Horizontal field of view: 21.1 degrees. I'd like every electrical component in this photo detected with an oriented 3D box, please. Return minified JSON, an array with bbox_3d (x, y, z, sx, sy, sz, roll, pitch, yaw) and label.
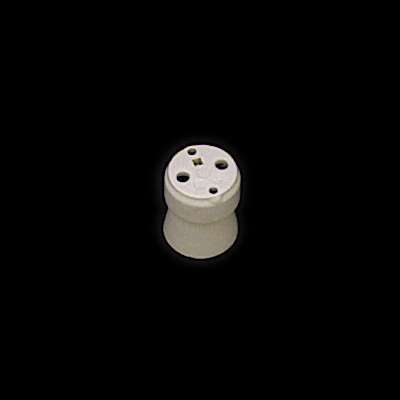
[{"bbox_3d":[0.000,0.000,0.630,0.045,0.044,0.055,0,-37,-1],"label":"electrical component"}]
